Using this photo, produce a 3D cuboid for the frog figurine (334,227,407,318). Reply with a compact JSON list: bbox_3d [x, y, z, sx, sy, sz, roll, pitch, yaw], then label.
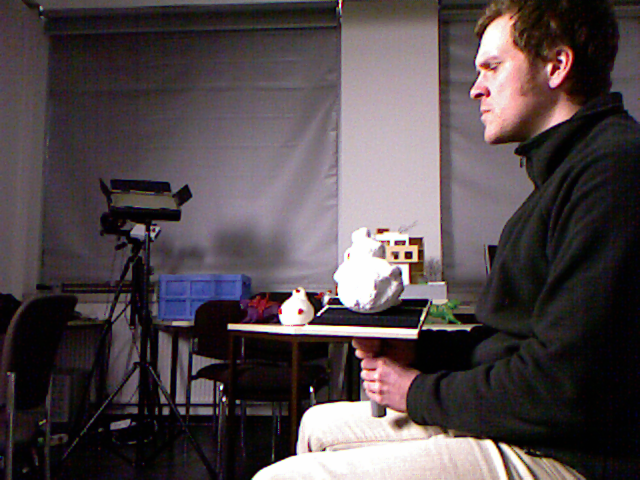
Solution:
[{"bbox_3d":[0.094,0.060,0.970,0.138,0.158,0.124,6,17,37],"label":"frog figurine"}]
